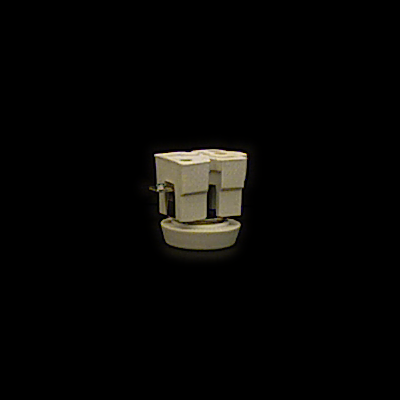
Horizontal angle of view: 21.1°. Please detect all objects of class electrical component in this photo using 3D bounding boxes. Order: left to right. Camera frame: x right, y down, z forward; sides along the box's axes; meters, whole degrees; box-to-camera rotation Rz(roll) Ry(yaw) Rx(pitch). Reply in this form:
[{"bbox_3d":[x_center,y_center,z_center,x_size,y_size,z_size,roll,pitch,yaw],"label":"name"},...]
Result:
[{"bbox_3d":[0.000,0.000,0.653,0.067,0.056,0.047,-6,15,-28],"label":"electrical component"}]
